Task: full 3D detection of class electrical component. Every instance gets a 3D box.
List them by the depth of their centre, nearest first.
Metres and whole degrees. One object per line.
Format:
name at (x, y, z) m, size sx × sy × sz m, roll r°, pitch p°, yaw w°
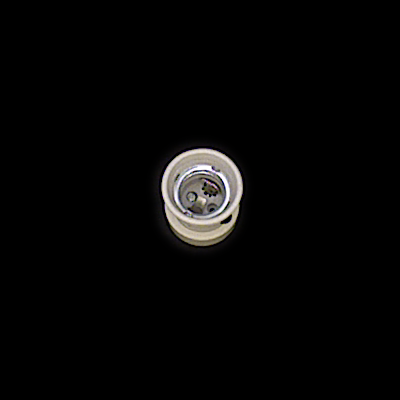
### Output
electrical component at (0.000, 0.000, 0.628) m, size 0.045 × 0.045 × 0.055 m, roll 0°, pitch -17°, yaw 0°
